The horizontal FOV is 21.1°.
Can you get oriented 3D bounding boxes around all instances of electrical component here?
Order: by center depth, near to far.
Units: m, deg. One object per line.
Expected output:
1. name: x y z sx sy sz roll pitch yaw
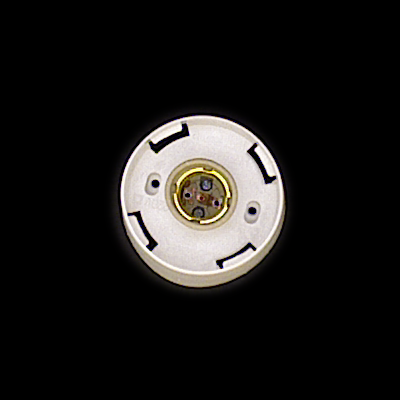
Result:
1. electrical component: 0.000 0.000 0.626 0.099 0.099 0.064 0 -6 0
